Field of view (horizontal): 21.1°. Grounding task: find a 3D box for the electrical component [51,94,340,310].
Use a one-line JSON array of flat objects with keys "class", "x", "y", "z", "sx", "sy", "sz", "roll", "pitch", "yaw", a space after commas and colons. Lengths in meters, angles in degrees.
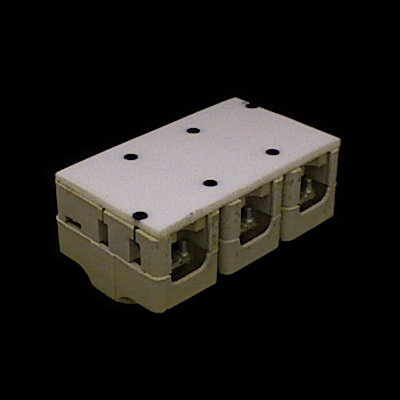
[{"class": "electrical component", "x": 0.000, "y": 0.000, "z": 0.637, "sx": 0.149, "sy": 0.063, "sz": 0.088, "roll": -27, "pitch": 40, "yaw": -37}]
